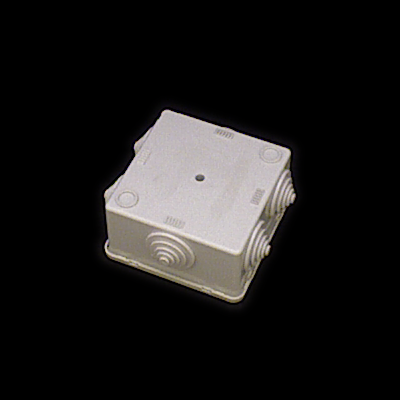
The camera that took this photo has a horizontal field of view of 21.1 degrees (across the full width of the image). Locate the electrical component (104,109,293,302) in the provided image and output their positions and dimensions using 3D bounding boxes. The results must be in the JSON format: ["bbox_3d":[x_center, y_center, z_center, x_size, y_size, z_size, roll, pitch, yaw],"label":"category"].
[{"bbox_3d":[0.000,0.000,0.633,0.099,0.099,0.049,19,-35,13],"label":"electrical component"}]
